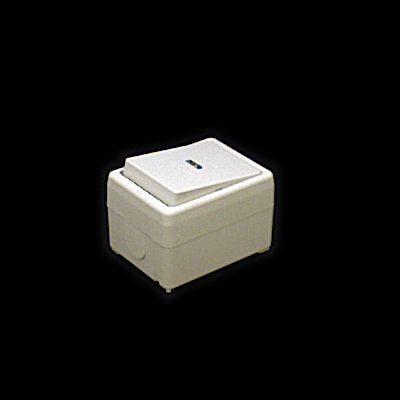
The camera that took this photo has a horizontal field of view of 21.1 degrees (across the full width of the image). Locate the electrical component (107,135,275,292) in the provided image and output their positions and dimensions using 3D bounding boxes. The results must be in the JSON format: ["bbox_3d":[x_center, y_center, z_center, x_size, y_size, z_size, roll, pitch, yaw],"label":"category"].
[{"bbox_3d":[0.000,0.000,0.635,0.096,0.061,0.061,-21,38,-32],"label":"electrical component"}]
